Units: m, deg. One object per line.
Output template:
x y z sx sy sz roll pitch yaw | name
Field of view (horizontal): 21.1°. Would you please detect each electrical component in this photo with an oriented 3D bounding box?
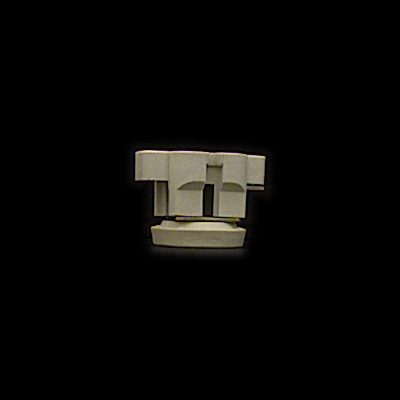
0.000 0.000 0.658 0.079 0.057 0.057 2 0 -20 | electrical component
